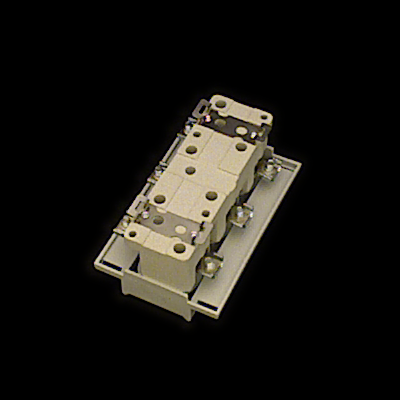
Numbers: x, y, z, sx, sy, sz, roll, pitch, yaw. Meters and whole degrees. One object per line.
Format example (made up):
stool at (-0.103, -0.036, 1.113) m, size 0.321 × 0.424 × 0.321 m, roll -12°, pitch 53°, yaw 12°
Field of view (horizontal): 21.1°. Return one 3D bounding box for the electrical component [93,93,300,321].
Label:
electrical component at (0.000, 0.000, 0.635) m, size 0.078 × 0.121 × 0.063 m, roll 21°, pitch -34°, yaw 14°
